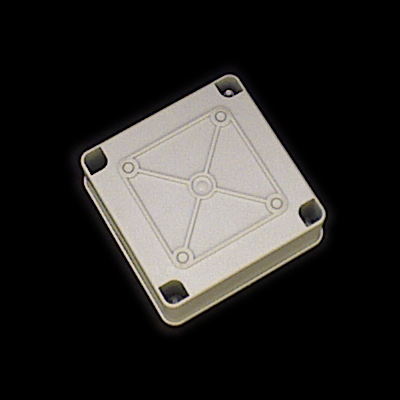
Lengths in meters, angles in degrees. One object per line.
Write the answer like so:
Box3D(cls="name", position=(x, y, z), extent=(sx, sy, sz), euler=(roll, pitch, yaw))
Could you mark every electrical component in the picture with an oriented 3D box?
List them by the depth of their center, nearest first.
Box3D(cls="electrical component", position=(0.000, 0.000, 0.628), extent=(0.109, 0.109, 0.056), euler=(-29, -15, -9))
